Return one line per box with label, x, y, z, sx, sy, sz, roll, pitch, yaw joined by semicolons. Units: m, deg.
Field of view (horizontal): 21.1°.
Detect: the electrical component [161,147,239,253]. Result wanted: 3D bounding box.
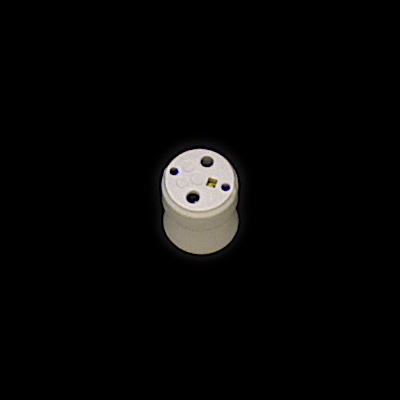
electrical component;0.000;0.000;0.628;0.045;0.045;0.055;0;-27;0
